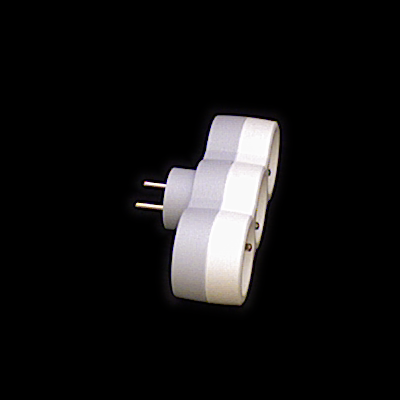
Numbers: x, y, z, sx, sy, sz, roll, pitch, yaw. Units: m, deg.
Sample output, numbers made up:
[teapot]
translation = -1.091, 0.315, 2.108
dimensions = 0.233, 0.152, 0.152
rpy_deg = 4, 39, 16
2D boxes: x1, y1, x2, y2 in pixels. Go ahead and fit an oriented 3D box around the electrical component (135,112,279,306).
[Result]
[electrical component]
translation = 0.000, 0.000, 0.631
dimensions = 0.073, 0.052, 0.137
rpy_deg = 7, 43, 10
